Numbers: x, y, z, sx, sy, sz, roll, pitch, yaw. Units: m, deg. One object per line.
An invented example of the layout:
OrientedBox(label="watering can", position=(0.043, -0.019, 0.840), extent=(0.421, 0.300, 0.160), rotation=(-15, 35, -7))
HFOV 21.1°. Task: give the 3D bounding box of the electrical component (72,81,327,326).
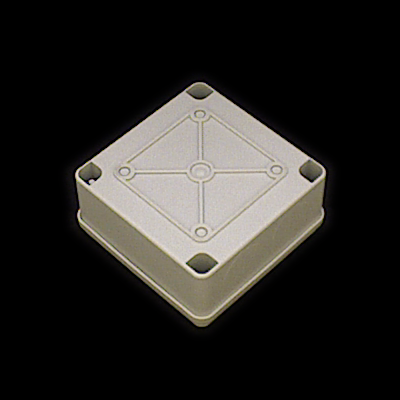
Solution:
OrientedBox(label="electrical component", position=(0.000, 0.000, 0.628), extent=(0.108, 0.056, 0.109), rotation=(38, 61, 25))
